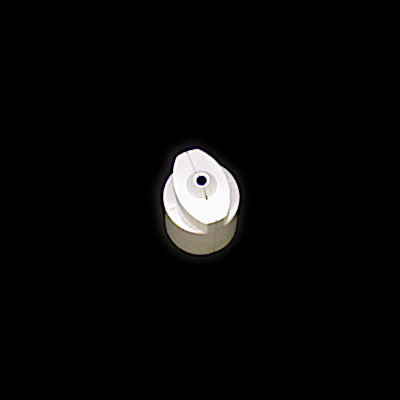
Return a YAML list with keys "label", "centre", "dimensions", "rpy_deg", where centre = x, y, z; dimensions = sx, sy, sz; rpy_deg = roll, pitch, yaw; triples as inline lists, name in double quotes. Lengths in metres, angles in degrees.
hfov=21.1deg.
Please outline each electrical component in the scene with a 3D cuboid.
- label: "electrical component"
  centre: [0.000, 0.000, 0.616]
  dimensions: [0.043, 0.043, 0.080]
  rpy_deg: [0, -17, 0]
